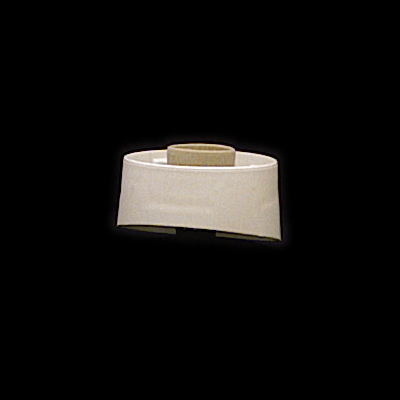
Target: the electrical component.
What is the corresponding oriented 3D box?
[{"bbox_3d":[0.000,0.000,0.643,0.099,0.064,0.098,1,10,0],"label":"electrical component"}]
